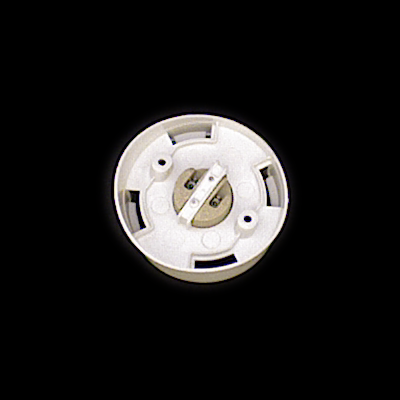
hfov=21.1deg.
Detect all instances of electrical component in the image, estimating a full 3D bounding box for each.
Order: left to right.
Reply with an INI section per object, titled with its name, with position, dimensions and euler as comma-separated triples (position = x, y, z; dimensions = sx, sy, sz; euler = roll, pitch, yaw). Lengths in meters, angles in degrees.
[electrical component]
position = 0.000, 0.000, 0.623
dimensions = 0.099, 0.099, 0.064
euler = 0, -16, 0
